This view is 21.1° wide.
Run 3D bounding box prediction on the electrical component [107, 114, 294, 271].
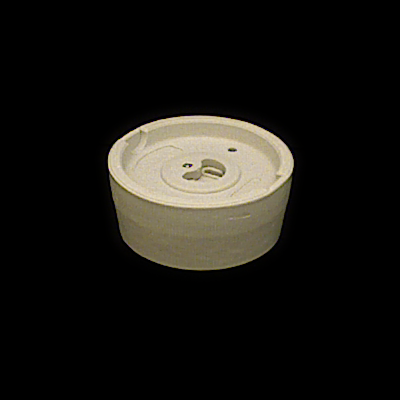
[{"bbox_3d":[0.000,0.000,0.641,0.108,0.061,0.106,1,32,0],"label":"electrical component"}]
